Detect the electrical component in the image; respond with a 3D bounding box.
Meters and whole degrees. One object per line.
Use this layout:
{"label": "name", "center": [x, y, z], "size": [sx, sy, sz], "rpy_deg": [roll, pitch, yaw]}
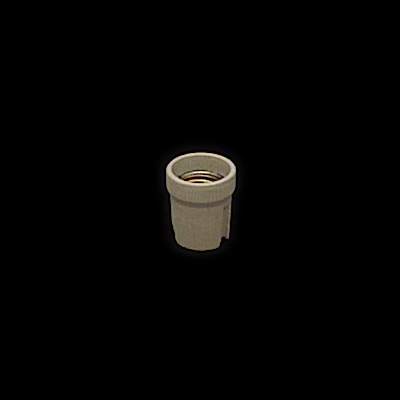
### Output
{"label": "electrical component", "center": [0.000, 0.000, 0.637], "size": [0.040, 0.047, 0.039], "rpy_deg": [1, 31, 0]}
